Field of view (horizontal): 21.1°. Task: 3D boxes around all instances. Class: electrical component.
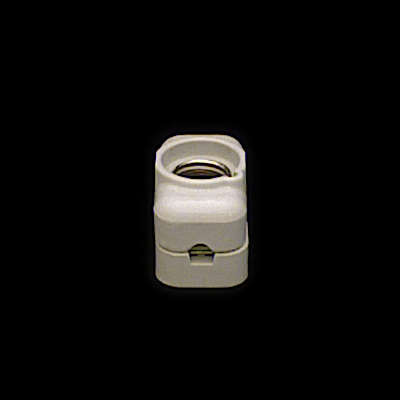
[{"bbox_3d":[0.000,0.000,0.641,0.054,0.060,0.094,0,32,0],"label":"electrical component"}]
